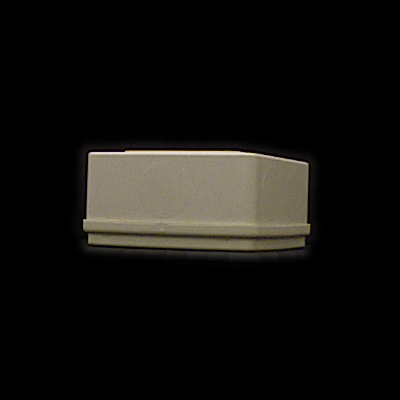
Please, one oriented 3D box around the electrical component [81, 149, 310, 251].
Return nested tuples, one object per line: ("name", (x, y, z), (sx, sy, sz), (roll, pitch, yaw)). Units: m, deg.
("electrical component", (0.000, 0.000, 0.652), (0.108, 0.056, 0.109), (2, 0, 23))
